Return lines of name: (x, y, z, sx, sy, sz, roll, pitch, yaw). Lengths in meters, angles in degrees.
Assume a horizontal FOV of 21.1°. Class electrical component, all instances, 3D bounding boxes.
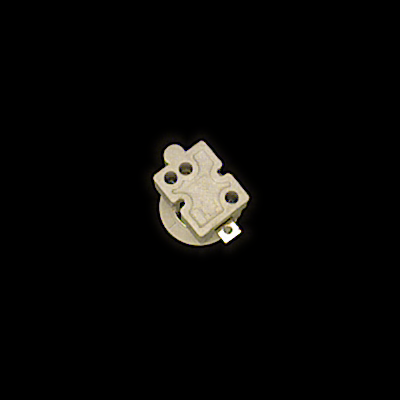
electrical component: (0.000, 0.000, 0.637, 0.049, 0.066, 0.055, -37, -12, -11)
